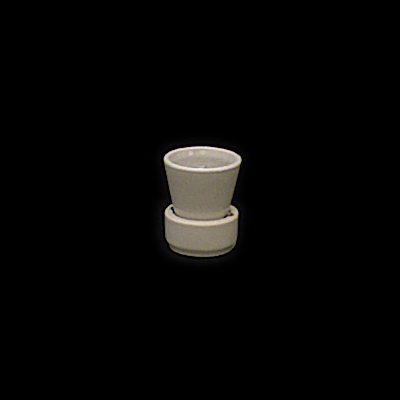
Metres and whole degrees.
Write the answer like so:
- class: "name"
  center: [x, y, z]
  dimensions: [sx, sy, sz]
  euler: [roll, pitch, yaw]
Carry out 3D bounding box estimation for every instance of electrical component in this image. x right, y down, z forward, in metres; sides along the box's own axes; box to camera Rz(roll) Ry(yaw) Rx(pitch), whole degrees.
- class: "electrical component"
  center: [0.000, 0.000, 0.641]
  dimensions: [0.045, 0.056, 0.044]
  euler: [1, 21, 0]
